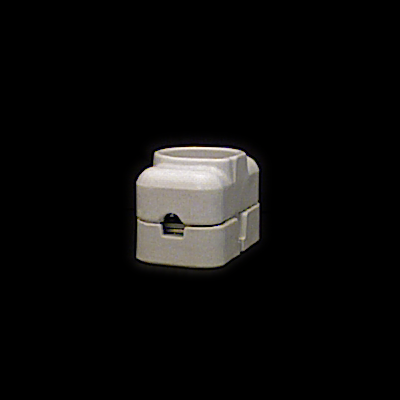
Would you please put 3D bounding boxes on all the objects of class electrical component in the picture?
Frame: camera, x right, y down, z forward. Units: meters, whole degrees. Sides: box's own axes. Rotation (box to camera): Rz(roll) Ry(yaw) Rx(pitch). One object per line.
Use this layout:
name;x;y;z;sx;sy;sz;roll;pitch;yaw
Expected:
electrical component;0.000;0.000;0.650;0.053;0.060;0.095;5;12;19
